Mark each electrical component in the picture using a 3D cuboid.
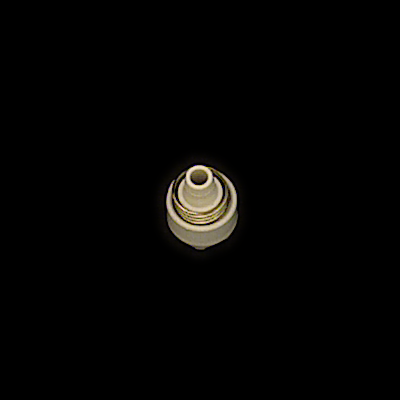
[{"bbox_3d":[0.000,0.000,0.634,0.043,0.043,0.062,0,-26,2],"label":"electrical component"}]
